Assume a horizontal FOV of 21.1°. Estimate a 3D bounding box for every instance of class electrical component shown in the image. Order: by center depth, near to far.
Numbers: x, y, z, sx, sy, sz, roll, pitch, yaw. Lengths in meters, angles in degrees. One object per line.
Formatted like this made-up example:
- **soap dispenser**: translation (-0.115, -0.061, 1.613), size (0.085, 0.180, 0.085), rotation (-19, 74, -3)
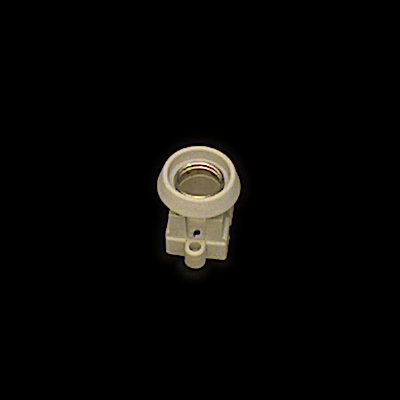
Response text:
- **electrical component**: translation (0.000, 0.000, 0.638), size (0.048, 0.066, 0.056), rotation (6, -37, 2)
